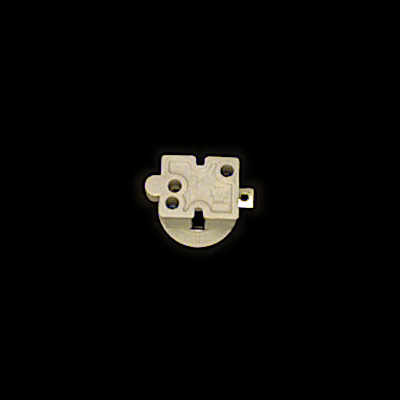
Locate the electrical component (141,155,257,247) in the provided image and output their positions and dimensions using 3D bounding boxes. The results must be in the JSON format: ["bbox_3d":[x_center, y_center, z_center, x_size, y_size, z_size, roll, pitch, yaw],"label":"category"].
[{"bbox_3d":[0.000,0.000,0.637,0.066,0.048,0.055,2,-17,0],"label":"electrical component"}]
